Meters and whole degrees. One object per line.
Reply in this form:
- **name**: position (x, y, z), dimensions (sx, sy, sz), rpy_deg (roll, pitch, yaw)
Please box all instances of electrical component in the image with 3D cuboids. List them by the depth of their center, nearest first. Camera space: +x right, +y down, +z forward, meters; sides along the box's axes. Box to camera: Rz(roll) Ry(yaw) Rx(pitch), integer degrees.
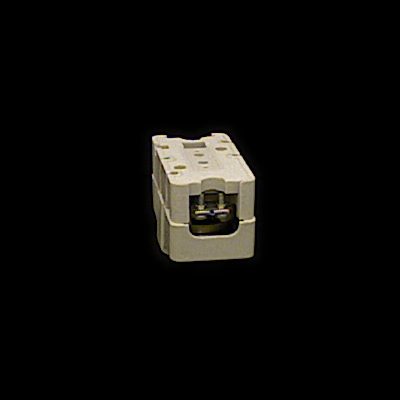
- **electrical component**: position (0.000, 0.000, 0.646), dimensions (0.050, 0.056, 0.088), rpy_deg (-3, 22, -9)
